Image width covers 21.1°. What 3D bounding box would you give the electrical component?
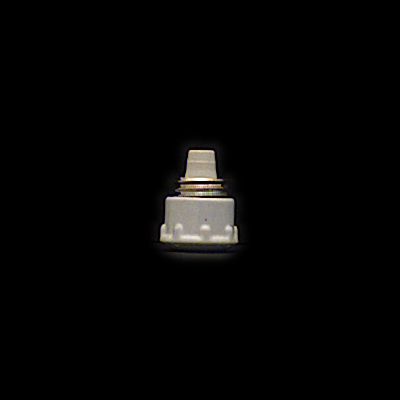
[{"bbox_3d":[0.000,0.000,0.655,0.048,0.062,0.048,1,3,0],"label":"electrical component"}]
